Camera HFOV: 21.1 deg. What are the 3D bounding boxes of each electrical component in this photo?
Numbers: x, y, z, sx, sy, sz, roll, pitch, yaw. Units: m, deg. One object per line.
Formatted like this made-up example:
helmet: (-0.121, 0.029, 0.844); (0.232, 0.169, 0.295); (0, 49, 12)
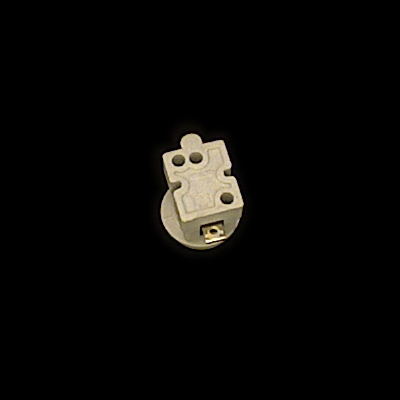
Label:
electrical component: (0.000, 0.000, 0.637); (0.048, 0.066, 0.055); (-13, -25, -8)
